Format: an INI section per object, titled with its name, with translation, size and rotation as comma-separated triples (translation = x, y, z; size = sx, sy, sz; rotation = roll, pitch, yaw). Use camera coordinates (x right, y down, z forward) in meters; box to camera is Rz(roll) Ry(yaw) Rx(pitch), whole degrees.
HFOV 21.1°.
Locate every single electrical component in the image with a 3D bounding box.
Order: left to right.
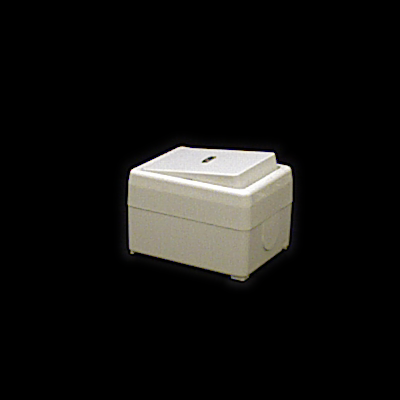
[electrical component]
translation = 0.000, 0.000, 0.640
size = 0.095, 0.061, 0.061
rotation = 12, 23, 27
